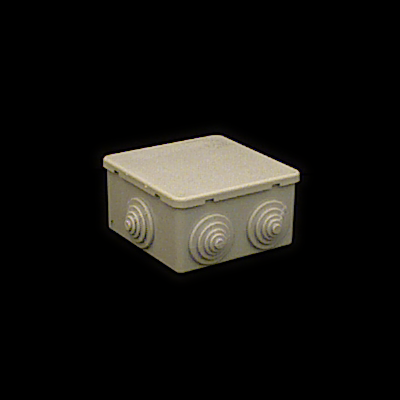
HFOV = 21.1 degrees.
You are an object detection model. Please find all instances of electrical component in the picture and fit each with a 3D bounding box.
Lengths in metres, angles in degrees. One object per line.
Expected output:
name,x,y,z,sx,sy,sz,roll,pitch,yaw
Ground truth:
electrical component,0.000,0.000,0.649,0.100,0.049,0.098,-13,26,-32
